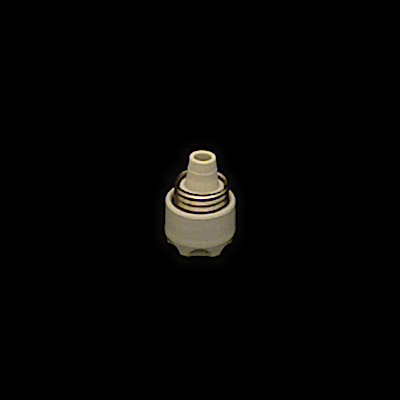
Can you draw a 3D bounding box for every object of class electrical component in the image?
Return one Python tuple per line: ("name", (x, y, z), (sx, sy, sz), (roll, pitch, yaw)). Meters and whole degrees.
("electrical component", (0.000, 0.000, 0.641), (0.043, 0.063, 0.043), (2, 33, -1))
